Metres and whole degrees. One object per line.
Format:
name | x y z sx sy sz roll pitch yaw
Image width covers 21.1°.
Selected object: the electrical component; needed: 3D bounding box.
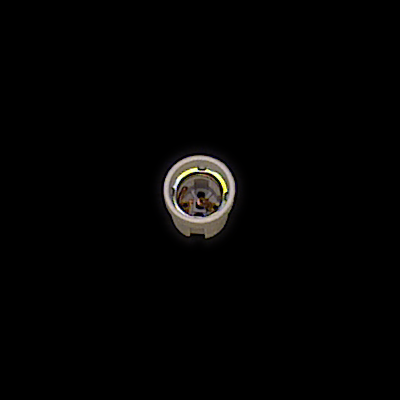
electrical component | 0.000 0.000 0.628 0.040 0.040 0.046 0 -17 0
